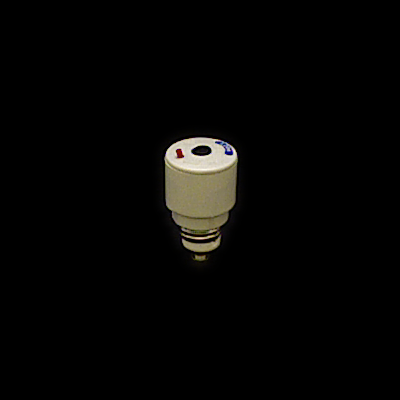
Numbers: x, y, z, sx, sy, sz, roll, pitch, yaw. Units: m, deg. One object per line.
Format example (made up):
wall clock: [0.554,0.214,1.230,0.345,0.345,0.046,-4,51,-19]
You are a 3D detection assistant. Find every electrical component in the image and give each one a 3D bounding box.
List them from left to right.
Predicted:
electrical component: [0.000,0.000,0.629,0.040,0.079,0.039,0,32,0]
